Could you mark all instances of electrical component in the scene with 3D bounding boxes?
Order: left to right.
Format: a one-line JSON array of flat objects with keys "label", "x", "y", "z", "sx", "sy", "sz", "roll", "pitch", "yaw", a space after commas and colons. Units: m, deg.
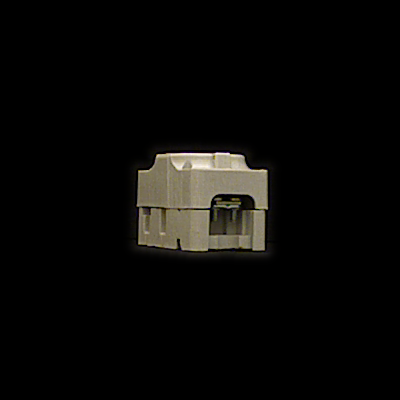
[{"label": "electrical component", "x": 0.000, "y": 0.000, "z": 0.656, "sx": 0.050, "sy": 0.056, "sz": 0.089, "roll": 1, "pitch": 1, "yaw": -26}]
